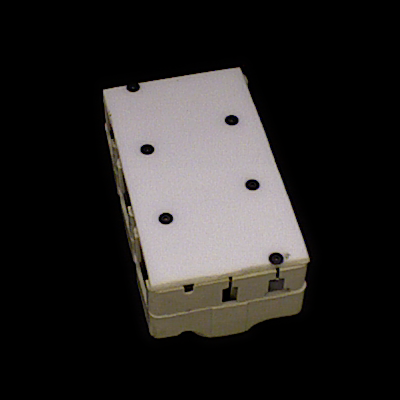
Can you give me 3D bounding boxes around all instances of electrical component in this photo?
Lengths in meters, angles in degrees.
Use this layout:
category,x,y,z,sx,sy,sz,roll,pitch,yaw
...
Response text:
category,x,y,z,sx,sy,sz,roll,pitch,yaw
electrical component,0.000,0.000,0.634,0.090,0.147,0.062,-10,-37,-8
